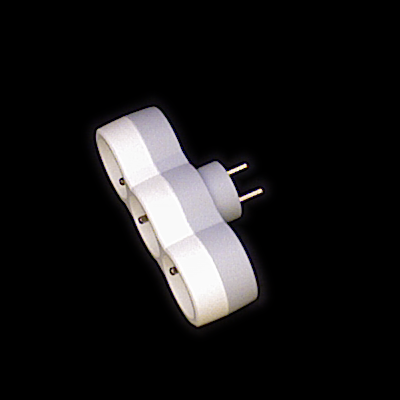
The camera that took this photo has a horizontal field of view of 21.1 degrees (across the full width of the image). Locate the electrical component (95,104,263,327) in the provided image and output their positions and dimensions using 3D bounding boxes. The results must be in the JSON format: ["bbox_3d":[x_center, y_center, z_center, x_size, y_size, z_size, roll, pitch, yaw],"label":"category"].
[{"bbox_3d":[0.000,0.000,0.632,0.074,0.138,0.052,-24,-25,-14],"label":"electrical component"}]
